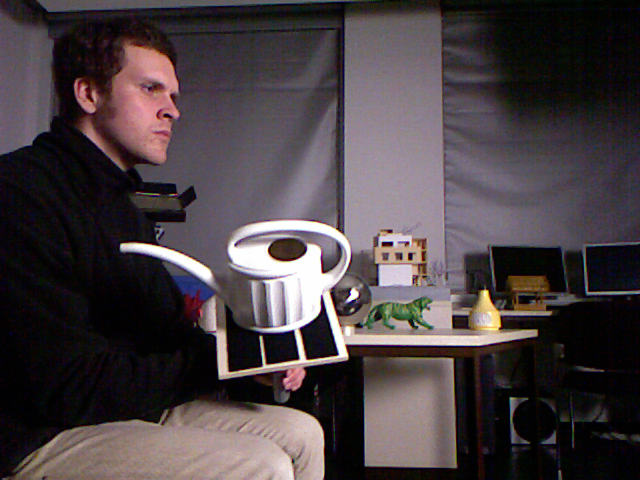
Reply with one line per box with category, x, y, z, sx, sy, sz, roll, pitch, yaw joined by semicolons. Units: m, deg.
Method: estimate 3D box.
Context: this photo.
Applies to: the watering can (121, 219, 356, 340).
watering can;-0.116;0.060;0.819;0.349;0.219;0.107;-4;39;-6
